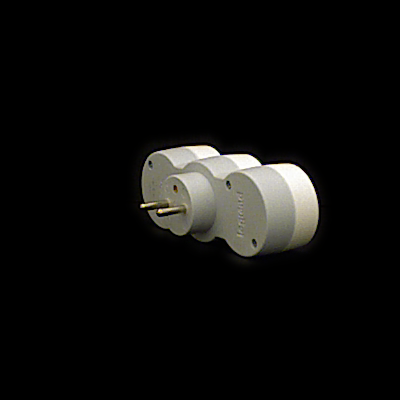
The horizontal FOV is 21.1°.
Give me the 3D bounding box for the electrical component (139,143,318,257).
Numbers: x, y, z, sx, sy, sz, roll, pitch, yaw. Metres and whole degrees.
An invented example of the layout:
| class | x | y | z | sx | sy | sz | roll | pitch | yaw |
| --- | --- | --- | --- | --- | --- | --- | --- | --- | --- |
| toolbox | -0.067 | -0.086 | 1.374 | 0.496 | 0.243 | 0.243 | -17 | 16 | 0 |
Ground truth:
| class | x | y | z | sx | sy | sz | roll | pitch | yaw |
| --- | --- | --- | --- | --- | --- | --- | --- | --- | --- |
| electrical component | 0.000 | 0.000 | 0.651 | 0.074 | 0.052 | 0.135 | -8 | 15 | -34 |
